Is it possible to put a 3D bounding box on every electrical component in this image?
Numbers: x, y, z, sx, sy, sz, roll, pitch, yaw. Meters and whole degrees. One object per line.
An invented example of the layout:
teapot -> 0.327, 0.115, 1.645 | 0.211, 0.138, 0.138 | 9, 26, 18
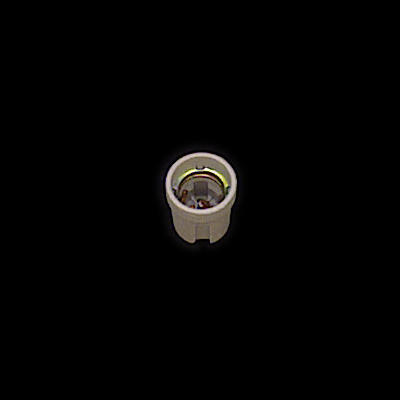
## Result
electrical component -> 0.000, 0.000, 0.629 | 0.040, 0.040, 0.046 | 0, -28, 0
